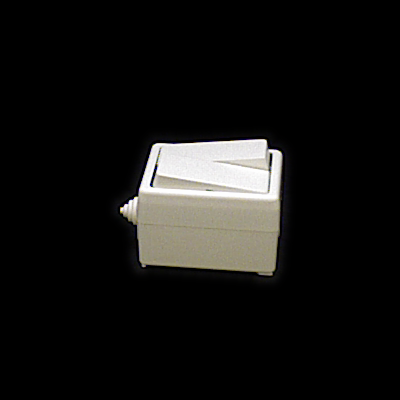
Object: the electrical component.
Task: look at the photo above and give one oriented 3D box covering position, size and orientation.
[{"bbox_3d":[0.000,0.000,0.634,0.096,0.061,0.061,4,31,4],"label":"electrical component"}]
